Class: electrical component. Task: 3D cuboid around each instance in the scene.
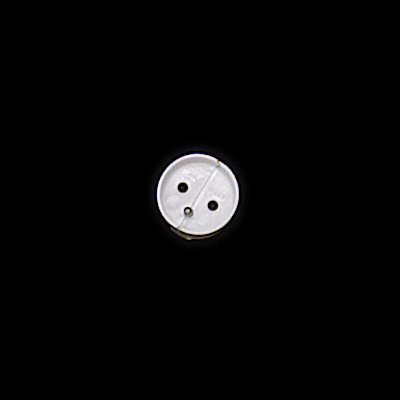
[{"bbox_3d":[0.000,0.000,0.615,0.043,0.043,0.080,0,-6,1],"label":"electrical component"}]
